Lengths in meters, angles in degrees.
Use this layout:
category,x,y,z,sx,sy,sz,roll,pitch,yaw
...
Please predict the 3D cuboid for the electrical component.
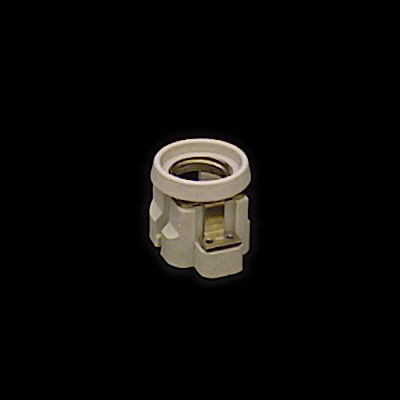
category,x,y,z,sx,sy,sz,roll,pitch,yaw
electrical component,0.000,0.000,0.634,0.058,0.057,0.077,-12,34,-20
